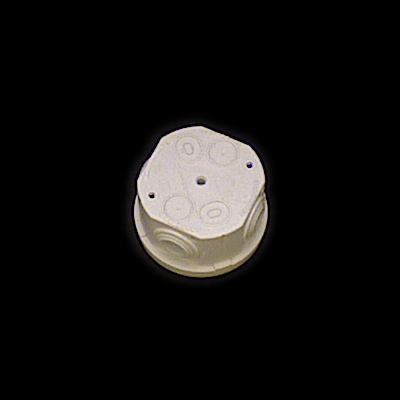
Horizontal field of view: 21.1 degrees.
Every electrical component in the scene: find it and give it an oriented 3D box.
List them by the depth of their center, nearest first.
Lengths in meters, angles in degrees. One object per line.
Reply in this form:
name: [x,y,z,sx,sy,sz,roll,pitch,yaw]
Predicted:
electrical component: [0.000,0.000,0.632,0.080,0.080,0.050,0,-27,-1]
